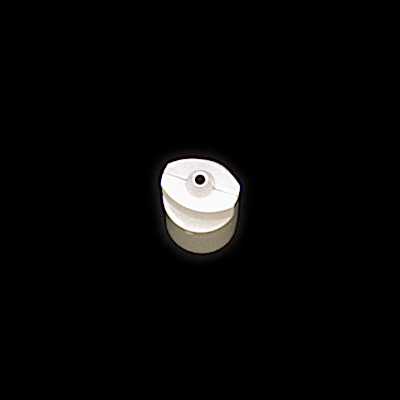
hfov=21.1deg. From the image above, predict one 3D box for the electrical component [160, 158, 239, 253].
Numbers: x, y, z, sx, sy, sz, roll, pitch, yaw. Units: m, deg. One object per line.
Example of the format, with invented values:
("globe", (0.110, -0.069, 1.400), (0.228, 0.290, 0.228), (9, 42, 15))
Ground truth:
("electrical component", (0.000, 0.000, 0.616), (0.043, 0.043, 0.080), (0, -17, 1))
